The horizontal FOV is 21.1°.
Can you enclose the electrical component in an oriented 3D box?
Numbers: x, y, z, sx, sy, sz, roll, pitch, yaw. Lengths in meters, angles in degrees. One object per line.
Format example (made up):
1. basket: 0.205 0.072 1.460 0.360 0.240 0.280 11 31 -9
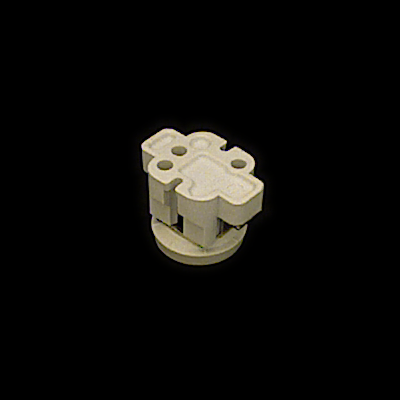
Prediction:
1. electrical component: 0.000 0.000 0.639 0.078 0.057 0.058 32 50 27
